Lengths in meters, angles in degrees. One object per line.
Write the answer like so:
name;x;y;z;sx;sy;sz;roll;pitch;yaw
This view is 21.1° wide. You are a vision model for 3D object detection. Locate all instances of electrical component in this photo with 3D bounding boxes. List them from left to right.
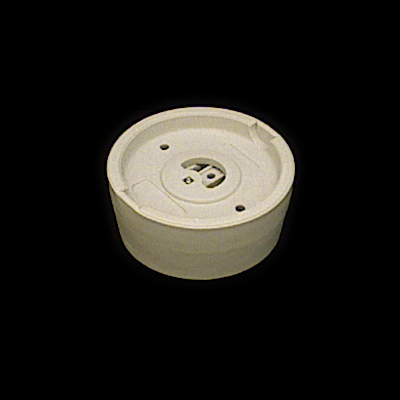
electrical component;0.000;0.000;0.635;0.108;0.061;0.107;1;42;0
